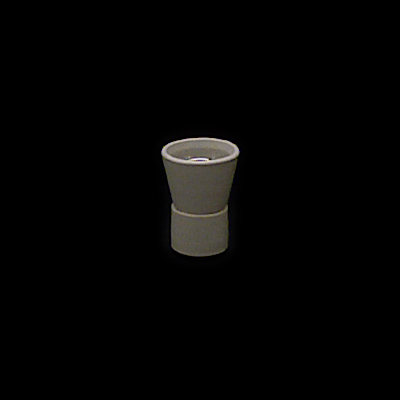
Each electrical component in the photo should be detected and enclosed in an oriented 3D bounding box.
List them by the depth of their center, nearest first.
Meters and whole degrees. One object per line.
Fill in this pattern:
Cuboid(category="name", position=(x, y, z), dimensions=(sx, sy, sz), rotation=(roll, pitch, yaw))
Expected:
Cuboid(category="electrical component", position=(0.000, 0.000, 0.636), dimensions=(0.044, 0.066, 0.044), rotation=(1, 22, 0))
